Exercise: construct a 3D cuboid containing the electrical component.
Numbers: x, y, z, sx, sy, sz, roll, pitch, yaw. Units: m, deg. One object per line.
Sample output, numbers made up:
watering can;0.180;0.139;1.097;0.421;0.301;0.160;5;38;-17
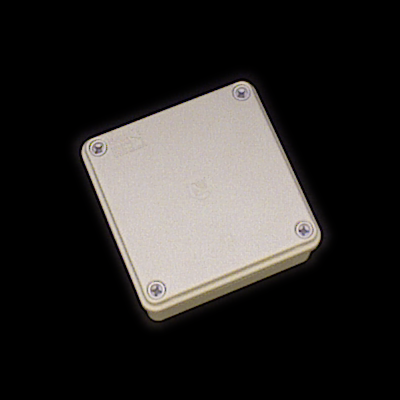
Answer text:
electrical component;0.000;0.000;0.629;0.109;0.109;0.056;-22;-15;-7
